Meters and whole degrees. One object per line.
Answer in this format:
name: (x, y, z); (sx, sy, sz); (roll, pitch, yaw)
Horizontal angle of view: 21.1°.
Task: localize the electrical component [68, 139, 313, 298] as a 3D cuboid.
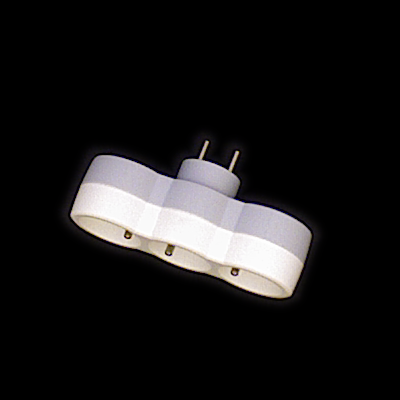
electrical component: (0.000, 0.000, 0.631); (0.138, 0.074, 0.052); (19, -18, 6)
